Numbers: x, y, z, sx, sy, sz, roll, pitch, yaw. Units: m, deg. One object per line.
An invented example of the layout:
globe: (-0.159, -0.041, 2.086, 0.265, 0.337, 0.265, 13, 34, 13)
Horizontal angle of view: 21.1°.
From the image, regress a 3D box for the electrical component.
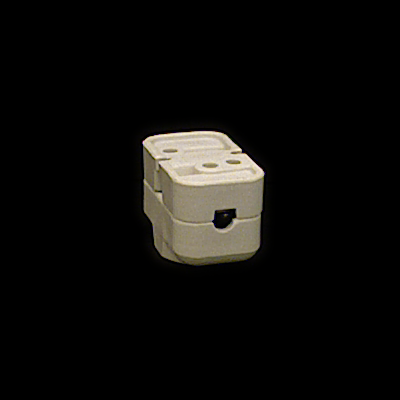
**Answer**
electrical component: (0.000, 0.000, 0.648, 0.054, 0.060, 0.093, -6, 22, -16)
